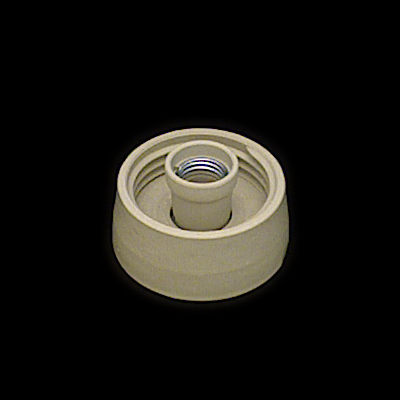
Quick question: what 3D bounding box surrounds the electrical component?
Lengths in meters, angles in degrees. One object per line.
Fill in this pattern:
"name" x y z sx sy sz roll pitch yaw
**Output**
"electrical component" 0.000 0.000 0.638 0.108 0.061 0.107 1 42 0
